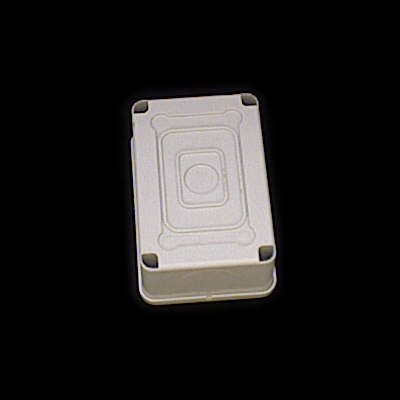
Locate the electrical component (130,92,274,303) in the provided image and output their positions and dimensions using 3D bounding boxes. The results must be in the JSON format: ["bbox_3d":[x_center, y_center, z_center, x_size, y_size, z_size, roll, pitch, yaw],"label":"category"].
[{"bbox_3d":[0.000,0.000,0.628,0.078,0.113,0.057,-4,-26,-2],"label":"electrical component"}]
